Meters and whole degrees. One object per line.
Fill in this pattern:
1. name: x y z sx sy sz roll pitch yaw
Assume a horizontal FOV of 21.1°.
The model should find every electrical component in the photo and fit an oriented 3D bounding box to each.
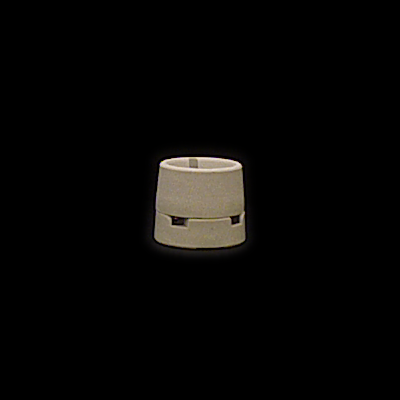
1. electrical component: 0.000 0.000 0.644 0.055 0.047 0.055 1 12 0
